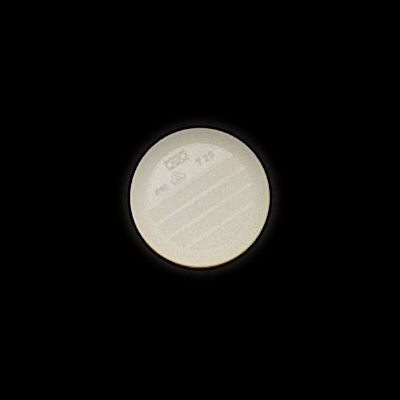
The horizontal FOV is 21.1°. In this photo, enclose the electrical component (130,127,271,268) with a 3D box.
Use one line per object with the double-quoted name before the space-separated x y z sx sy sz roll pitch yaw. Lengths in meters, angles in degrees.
"electrical component" 0.000 0.000 0.631 0.080 0.080 0.050 0 -7 0
